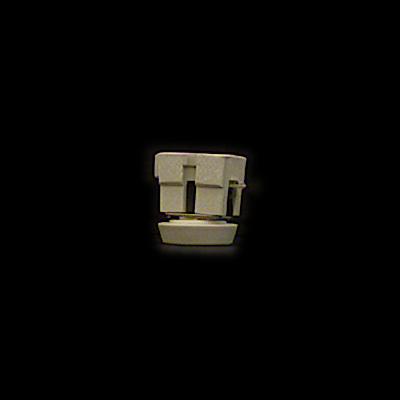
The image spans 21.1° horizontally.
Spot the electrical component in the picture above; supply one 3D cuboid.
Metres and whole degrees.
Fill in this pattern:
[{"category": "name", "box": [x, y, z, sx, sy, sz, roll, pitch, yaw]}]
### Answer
[{"category": "electrical component", "box": [0.000, 0.000, 0.656, 0.066, 0.055, 0.049, 3, 1, 23]}]
